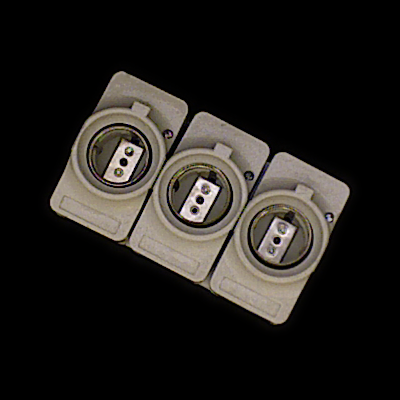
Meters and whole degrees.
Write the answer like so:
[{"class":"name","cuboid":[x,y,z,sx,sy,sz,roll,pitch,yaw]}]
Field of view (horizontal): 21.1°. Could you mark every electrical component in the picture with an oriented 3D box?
[{"class":"electrical component","cuboid":[0.000,0.000,0.632,0.150,0.089,0.061,27,-6,2]}]
